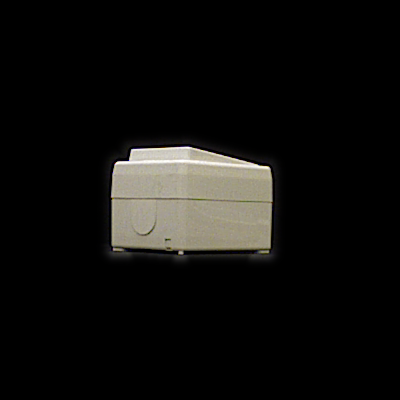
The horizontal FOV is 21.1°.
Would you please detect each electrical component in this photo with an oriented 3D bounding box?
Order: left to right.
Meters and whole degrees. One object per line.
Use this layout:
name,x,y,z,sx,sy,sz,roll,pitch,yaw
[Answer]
electrical component,0.000,0.000,0.651,0.061,0.061,0.096,2,0,44
